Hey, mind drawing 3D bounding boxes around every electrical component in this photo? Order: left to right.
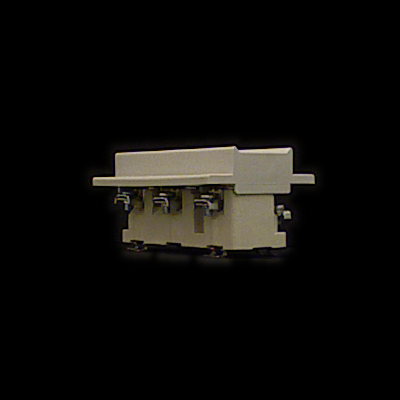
[{"bbox_3d":[0.000,0.000,0.660,0.079,0.063,0.121,-2,2,-37],"label":"electrical component"}]
